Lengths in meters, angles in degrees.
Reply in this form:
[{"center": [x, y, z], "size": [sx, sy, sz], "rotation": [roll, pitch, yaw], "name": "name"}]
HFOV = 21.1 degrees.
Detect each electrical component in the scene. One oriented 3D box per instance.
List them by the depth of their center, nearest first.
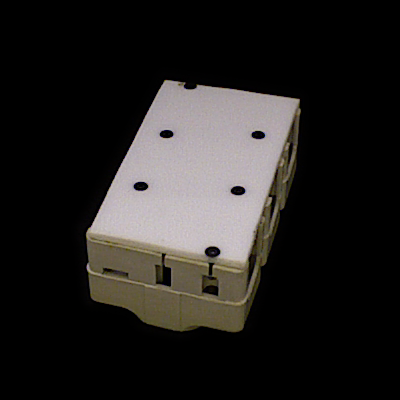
[{"center": [0.000, 0.000, 0.634], "size": [0.089, 0.063, 0.147], "rotation": [11, 43, 11], "name": "electrical component"}]
